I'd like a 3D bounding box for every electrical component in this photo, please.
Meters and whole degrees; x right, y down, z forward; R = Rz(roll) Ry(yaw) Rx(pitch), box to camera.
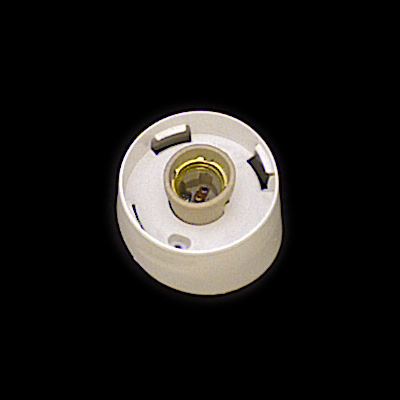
[{"bbox_3d":[0.000,0.000,0.625,0.099,0.099,0.064,0,-27,-1],"label":"electrical component"}]
